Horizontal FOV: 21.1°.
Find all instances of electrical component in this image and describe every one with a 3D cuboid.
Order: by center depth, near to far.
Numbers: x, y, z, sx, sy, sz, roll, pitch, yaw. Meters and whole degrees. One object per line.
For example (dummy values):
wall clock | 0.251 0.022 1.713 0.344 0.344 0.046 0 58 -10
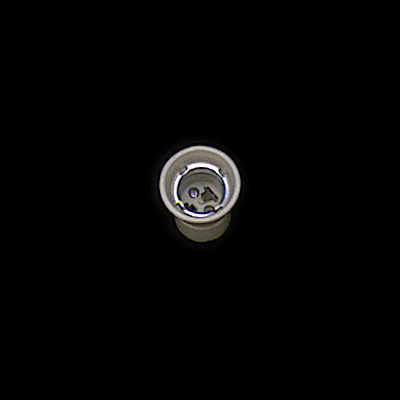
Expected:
electrical component | 0.000 0.000 0.624 0.044 0.044 0.065 0 -17 1
